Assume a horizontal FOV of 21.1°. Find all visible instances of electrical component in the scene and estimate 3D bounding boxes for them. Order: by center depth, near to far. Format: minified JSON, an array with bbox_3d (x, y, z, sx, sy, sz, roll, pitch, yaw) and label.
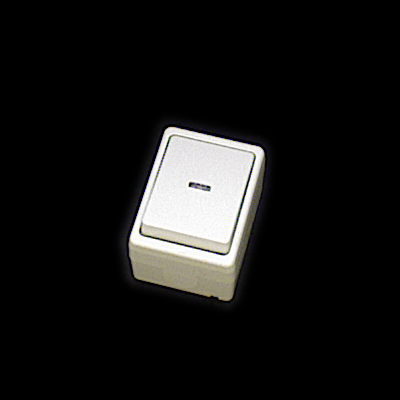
[{"bbox_3d":[0.000,0.000,0.627,0.062,0.096,0.061,13,-27,7],"label":"electrical component"}]
